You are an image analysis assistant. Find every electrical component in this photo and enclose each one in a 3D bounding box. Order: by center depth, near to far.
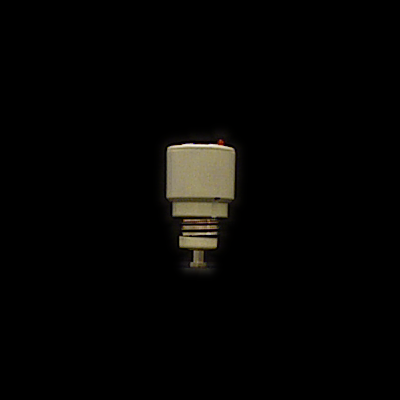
[{"bbox_3d":[0.000,0.000,0.650,0.040,0.078,0.040,2,1,0],"label":"electrical component"}]
